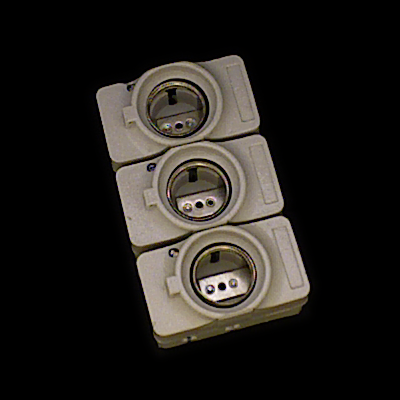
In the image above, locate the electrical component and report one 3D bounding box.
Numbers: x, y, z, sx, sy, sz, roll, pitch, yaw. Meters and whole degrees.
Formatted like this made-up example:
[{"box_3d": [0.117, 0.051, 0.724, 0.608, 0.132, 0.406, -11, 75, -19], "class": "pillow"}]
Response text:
[{"box_3d": [0.000, 0.000, 0.631, 0.090, 0.150, 0.062, -14, -17, -3], "class": "electrical component"}]
